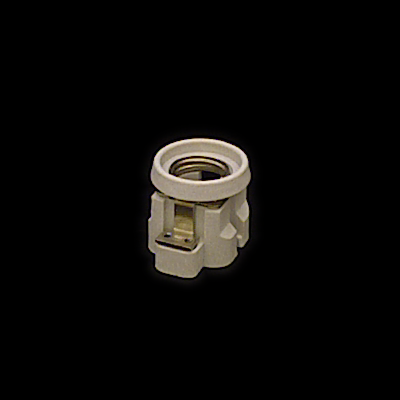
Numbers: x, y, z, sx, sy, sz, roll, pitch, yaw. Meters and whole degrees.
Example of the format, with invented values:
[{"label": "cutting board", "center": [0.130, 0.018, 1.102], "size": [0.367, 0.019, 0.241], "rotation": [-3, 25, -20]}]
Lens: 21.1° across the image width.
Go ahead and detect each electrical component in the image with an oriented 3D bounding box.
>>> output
[{"label": "electrical component", "center": [0.000, 0.000, 0.633], "size": [0.057, 0.057, 0.078], "rotation": [13, 33, 19]}]
